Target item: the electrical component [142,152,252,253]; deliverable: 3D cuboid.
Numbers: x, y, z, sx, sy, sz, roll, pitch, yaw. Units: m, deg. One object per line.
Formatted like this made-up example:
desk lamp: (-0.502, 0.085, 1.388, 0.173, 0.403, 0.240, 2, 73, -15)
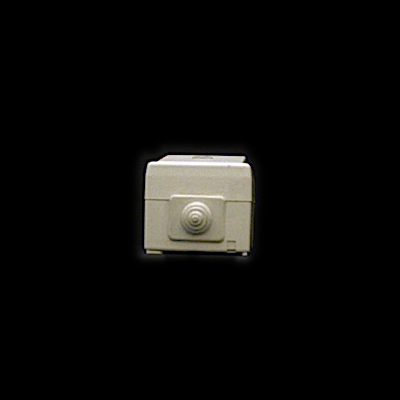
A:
electrical component: (0.000, 0.000, 0.648, 0.062, 0.061, 0.096, 1, 0, 4)
